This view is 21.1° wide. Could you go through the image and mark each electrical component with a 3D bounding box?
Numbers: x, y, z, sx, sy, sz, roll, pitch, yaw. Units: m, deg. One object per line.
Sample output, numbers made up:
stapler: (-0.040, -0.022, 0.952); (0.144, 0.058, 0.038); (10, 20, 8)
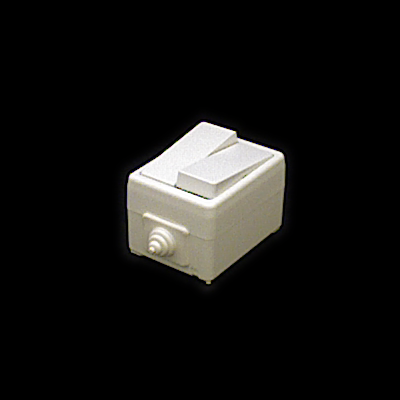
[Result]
electrical component: (0.000, 0.000, 0.632); (0.061, 0.061, 0.096); (21, 36, 30)
